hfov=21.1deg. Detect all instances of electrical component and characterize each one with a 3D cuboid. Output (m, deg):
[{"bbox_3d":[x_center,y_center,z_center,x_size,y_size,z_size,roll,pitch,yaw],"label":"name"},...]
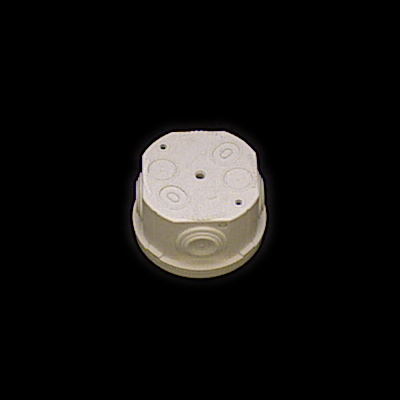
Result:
[{"bbox_3d":[0.000,0.000,0.632,0.080,0.080,0.051,0,-37,-1],"label":"electrical component"}]
